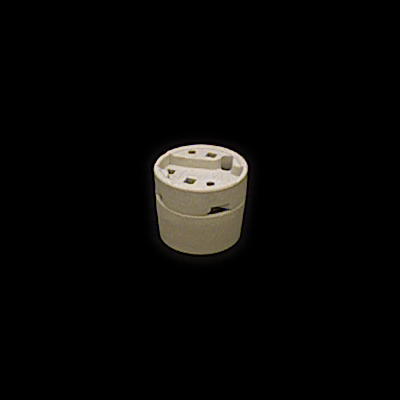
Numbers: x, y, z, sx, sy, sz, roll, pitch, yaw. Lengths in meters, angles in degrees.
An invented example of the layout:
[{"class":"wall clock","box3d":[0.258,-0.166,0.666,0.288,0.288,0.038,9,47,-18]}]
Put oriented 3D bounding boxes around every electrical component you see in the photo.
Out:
[{"class":"electrical component","box3d":[0.000,0.000,0.638,0.055,0.047,0.055,1,31,0]}]
